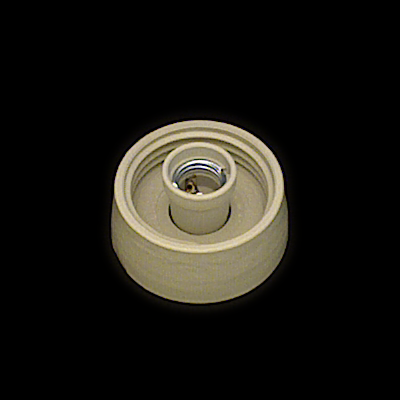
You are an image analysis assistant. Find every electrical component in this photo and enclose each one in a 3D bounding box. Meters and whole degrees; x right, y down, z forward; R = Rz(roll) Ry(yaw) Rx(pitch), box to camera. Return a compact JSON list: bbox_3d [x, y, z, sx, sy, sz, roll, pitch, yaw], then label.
[{"bbox_3d":[0.000,0.000,0.634,0.108,0.107,0.060,0,-37,-1],"label":"electrical component"}]
